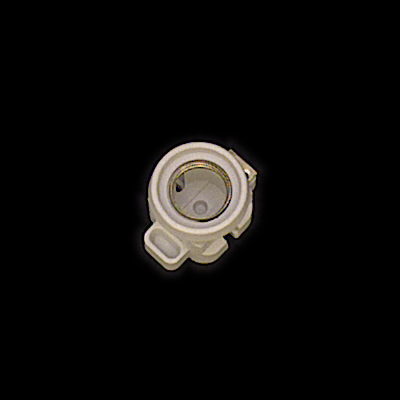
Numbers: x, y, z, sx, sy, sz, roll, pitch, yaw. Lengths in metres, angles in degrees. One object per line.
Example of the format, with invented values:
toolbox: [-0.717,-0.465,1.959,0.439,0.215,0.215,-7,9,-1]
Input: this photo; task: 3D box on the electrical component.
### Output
electrical component: [0.000,0.000,0.629,0.058,0.079,0.056,42,-13,11]
